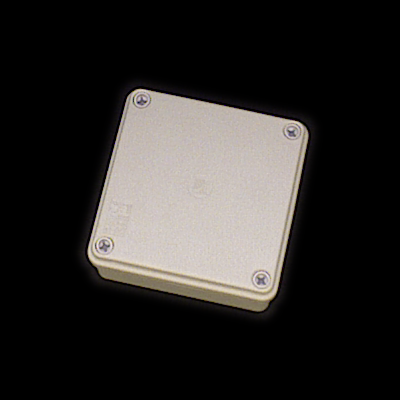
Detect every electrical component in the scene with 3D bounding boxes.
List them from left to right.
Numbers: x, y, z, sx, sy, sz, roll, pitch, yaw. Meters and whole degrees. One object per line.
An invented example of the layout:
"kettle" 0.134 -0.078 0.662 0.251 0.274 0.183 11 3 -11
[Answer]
"electrical component" 0.000 0.000 0.630 0.109 0.109 0.056 12 -17 3
